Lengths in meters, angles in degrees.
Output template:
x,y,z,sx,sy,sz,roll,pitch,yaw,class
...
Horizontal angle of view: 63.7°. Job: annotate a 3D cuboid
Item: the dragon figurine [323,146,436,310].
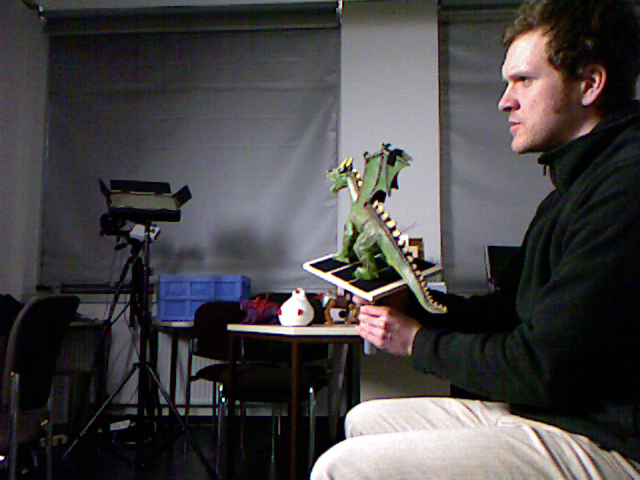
x,y,z,sx,sy,sz,roll,pitch,yaw,class
0.115,-0.057,0.994,0.123,0.239,0.417,-9,24,-26,dragon figurine
